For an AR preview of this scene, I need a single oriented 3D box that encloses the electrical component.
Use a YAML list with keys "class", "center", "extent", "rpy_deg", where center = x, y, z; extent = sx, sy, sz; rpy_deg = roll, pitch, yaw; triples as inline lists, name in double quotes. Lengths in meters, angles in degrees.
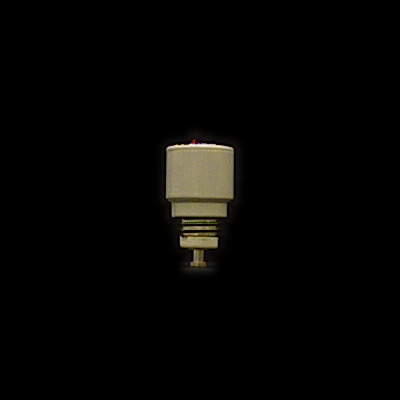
- class: "electrical component"
  center: [0.000, 0.000, 0.652]
  extent: [0.040, 0.078, 0.040]
  rpy_deg: [1, 1, 0]
